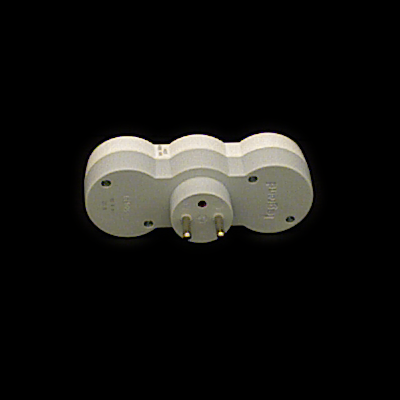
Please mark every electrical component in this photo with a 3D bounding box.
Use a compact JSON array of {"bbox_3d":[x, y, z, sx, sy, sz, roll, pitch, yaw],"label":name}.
[{"bbox_3d":[0.000,0.000,0.641,0.138,0.053,0.073,-1,34,-4],"label":"electrical component"}]
